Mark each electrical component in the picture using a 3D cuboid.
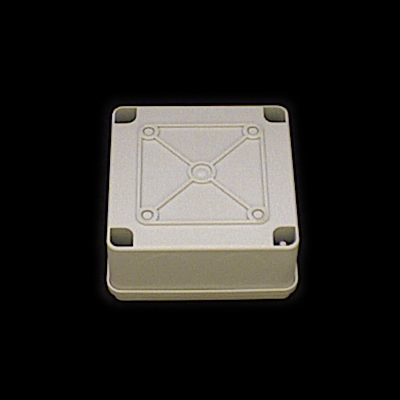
[{"bbox_3d":[0.000,0.000,0.629,0.109,0.108,0.056,0,-37,-1],"label":"electrical component"}]
